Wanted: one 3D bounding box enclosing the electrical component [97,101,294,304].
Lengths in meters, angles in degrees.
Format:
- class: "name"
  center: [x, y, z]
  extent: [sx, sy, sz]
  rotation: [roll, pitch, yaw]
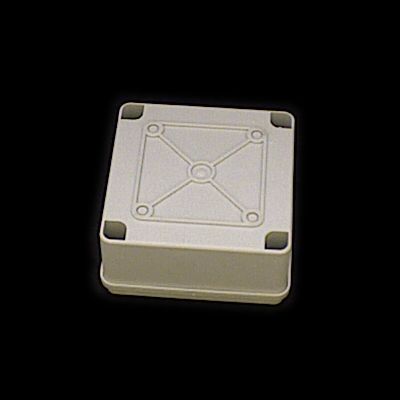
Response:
- class: "electrical component"
  center: [0.000, 0.000, 0.631]
  extent: [0.109, 0.108, 0.056]
  rotation: [4, -38, 2]
